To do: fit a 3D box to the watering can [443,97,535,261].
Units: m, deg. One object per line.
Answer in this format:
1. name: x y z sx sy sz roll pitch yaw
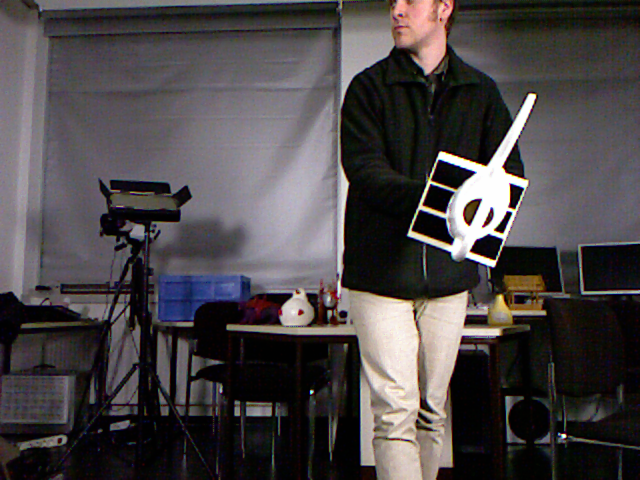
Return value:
1. watering can: 0.349 -0.118 1.083 0.104 0.347 0.225 24 4 2
